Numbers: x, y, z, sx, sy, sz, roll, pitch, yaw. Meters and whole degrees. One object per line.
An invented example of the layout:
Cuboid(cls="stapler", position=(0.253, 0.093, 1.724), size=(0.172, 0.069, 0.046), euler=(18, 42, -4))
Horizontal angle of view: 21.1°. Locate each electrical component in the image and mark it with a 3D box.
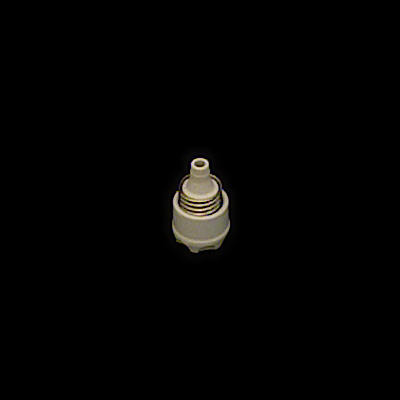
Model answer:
Cuboid(cls="electrical component", position=(0.000, 0.000, 0.643), size=(0.035, 0.062, 0.035), euler=(-1, 44, 1))
